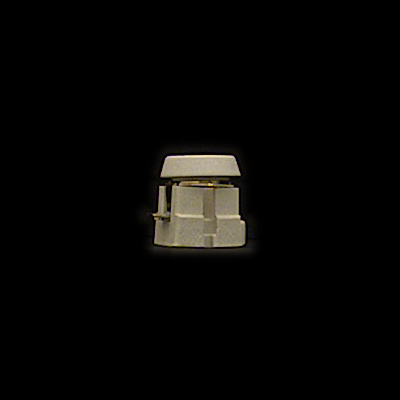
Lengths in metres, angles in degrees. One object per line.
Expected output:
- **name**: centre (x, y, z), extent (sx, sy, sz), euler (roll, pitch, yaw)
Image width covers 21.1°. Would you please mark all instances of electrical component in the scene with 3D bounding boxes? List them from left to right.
- **electrical component**: centre (0.000, 0.000, 0.655), extent (0.067, 0.055, 0.048), euler (1, 0, -25)
